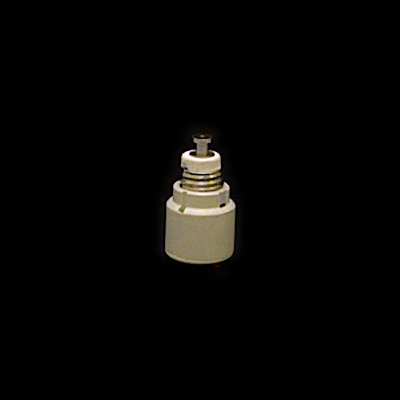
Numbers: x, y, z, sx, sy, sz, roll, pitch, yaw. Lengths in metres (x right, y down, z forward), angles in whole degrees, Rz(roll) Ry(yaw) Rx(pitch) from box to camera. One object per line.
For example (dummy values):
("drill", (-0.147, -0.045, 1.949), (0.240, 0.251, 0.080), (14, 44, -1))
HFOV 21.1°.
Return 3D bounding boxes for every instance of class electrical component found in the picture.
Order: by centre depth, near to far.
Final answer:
("electrical component", (0.000, 0.000, 0.634), (0.040, 0.079, 0.039), (1, 20, 0))
